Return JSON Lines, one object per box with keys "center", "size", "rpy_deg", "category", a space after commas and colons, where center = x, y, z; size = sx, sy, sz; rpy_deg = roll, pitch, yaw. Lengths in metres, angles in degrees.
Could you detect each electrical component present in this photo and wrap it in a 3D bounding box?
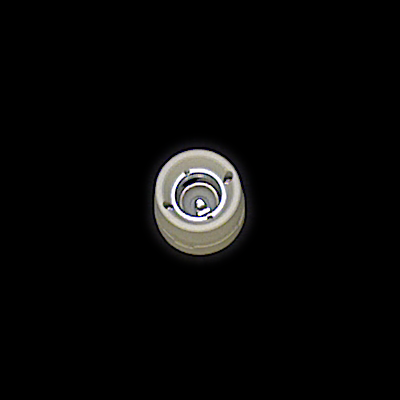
{"center": [0.000, 0.000, 0.633], "size": [0.055, 0.056, 0.047], "rpy_deg": [0, -17, 1], "category": "electrical component"}
